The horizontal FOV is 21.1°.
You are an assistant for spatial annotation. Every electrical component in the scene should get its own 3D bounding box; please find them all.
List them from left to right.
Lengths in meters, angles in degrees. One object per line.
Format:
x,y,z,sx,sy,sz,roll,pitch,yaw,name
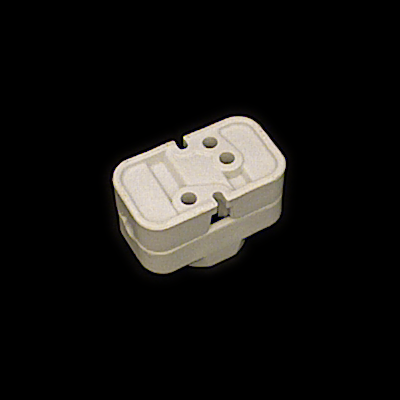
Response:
0.000,0.000,0.636,0.096,0.053,0.059,-24,-33,-17,electrical component
